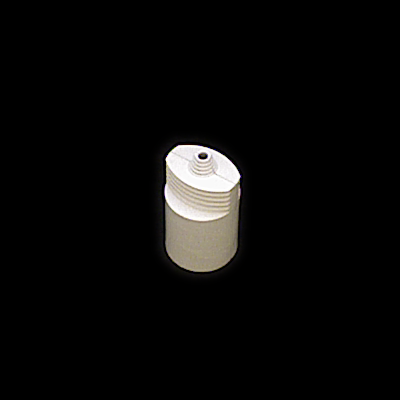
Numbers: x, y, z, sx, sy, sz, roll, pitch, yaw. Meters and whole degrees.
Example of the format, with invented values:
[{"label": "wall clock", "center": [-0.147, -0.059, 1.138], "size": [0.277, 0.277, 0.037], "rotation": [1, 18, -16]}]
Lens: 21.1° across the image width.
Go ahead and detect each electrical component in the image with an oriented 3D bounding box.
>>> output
[{"label": "electrical component", "center": [0.000, 0.000, 0.619], "size": [0.043, 0.043, 0.081], "rotation": [0, -38, 0]}]
